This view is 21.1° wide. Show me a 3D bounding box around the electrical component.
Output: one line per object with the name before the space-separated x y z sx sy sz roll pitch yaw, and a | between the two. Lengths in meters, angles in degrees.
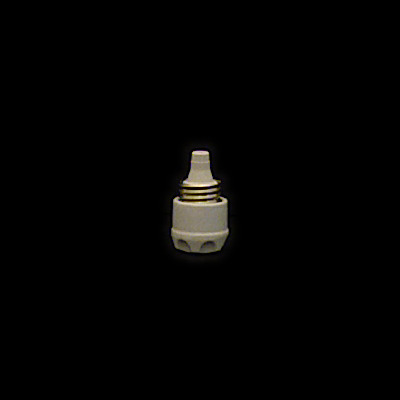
electrical component | 0.000 0.000 0.657 0.035 0.062 0.035 0 13 0
